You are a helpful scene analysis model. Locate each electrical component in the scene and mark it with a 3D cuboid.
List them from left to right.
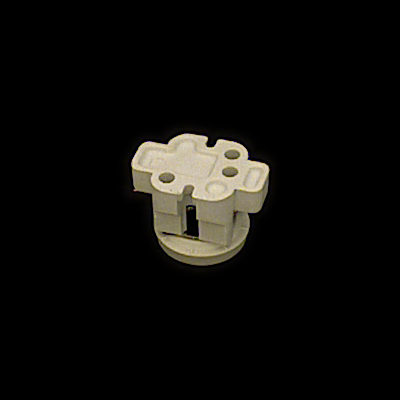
[{"bbox_3d":[0.000,0.000,0.638,0.078,0.057,0.057,10,44,12],"label":"electrical component"}]
